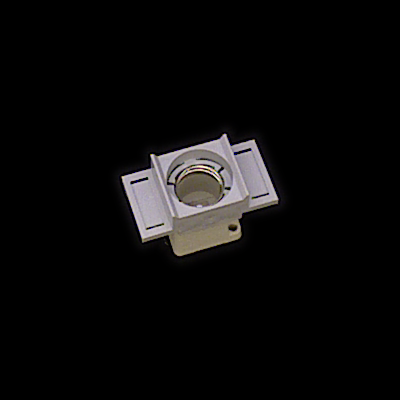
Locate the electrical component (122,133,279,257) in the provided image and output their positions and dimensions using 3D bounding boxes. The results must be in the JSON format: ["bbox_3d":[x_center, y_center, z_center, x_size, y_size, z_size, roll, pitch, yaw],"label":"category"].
[{"bbox_3d":[0.000,0.000,0.623,0.081,0.042,0.063,-16,-25,-9],"label":"electrical component"}]
